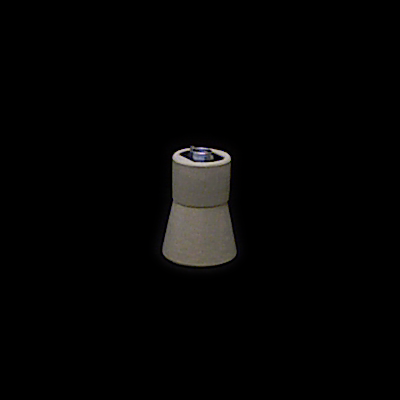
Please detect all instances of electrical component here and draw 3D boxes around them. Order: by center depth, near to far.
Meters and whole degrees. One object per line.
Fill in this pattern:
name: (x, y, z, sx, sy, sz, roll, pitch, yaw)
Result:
electrical component: (0.000, 0.000, 0.638, 0.044, 0.066, 0.044, 2, 21, -1)
